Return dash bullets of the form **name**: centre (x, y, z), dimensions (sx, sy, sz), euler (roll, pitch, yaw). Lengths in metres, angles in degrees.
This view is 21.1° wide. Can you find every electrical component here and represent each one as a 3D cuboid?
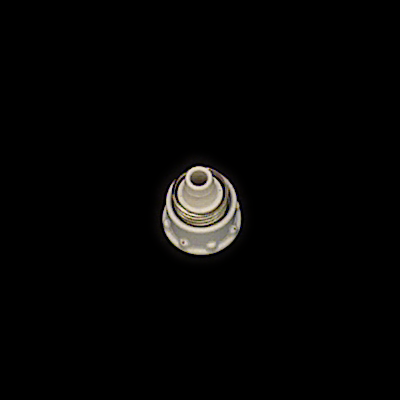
- **electrical component**: centre (0.000, 0.000, 0.632), dimensions (0.048, 0.048, 0.062), euler (0, -26, 2)
